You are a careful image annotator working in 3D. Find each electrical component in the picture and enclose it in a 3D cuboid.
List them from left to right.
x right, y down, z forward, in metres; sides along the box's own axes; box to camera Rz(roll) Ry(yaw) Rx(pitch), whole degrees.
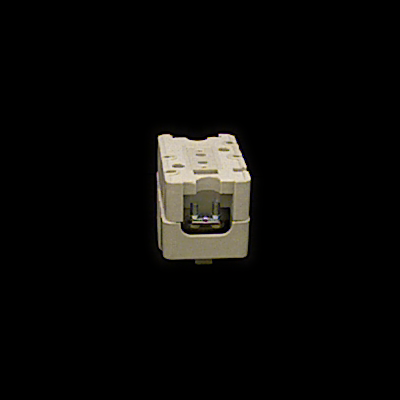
[{"bbox_3d":[0.000,0.000,0.647,0.050,0.056,0.088,0,22,-5],"label":"electrical component"}]
